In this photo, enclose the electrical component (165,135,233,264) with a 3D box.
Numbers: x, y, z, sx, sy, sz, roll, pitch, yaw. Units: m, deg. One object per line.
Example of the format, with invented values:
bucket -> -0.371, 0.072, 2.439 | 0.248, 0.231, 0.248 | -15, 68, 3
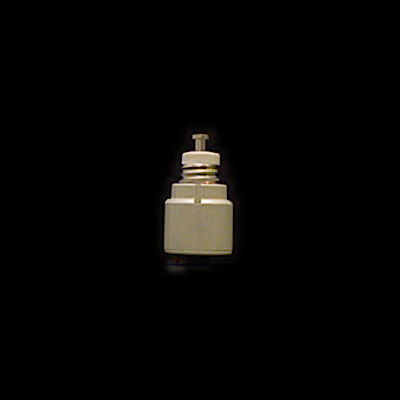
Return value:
electrical component -> 0.000, 0.000, 0.651 | 0.040, 0.078, 0.040 | 2, 2, 0
